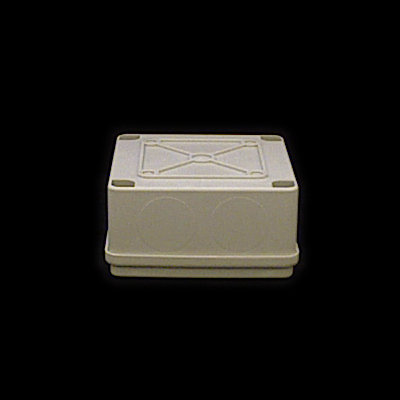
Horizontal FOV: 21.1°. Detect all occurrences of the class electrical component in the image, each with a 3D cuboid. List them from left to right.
[{"bbox_3d":[0.000,0.000,0.640,0.109,0.057,0.107,0,20,-1],"label":"electrical component"}]
